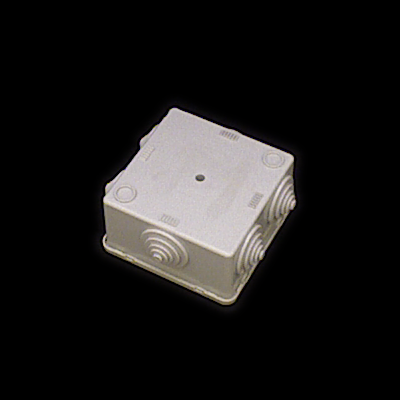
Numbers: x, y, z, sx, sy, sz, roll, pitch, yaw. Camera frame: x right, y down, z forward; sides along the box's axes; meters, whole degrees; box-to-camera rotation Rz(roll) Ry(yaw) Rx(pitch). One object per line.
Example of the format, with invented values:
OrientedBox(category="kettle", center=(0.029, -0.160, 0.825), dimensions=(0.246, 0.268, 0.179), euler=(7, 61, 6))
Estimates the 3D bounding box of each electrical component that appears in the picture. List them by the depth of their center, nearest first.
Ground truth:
OrientedBox(category="electrical component", center=(0.000, 0.000, 0.633), dimensions=(0.099, 0.099, 0.049), euler=(24, -34, 16))
